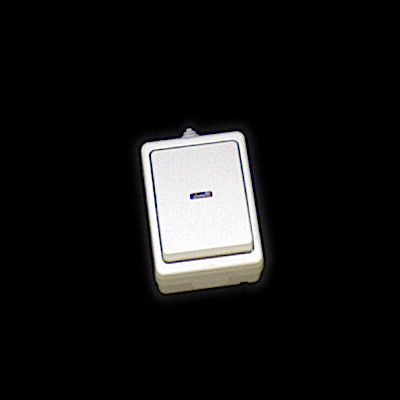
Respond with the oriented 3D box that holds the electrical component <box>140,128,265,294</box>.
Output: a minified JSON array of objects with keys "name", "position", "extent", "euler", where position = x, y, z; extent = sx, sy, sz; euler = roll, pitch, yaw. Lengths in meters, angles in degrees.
[{"name":"electrical component","position":[0.000,0.000,0.626],"extent":[0.062,0.096,0.060],"euler":[-7,-17,-2]}]
